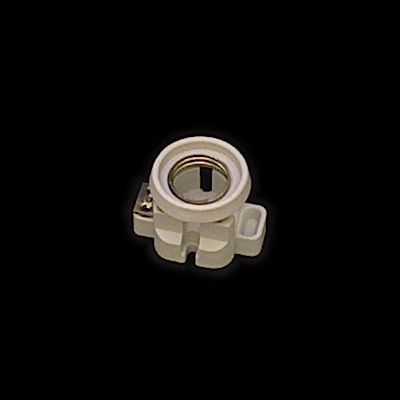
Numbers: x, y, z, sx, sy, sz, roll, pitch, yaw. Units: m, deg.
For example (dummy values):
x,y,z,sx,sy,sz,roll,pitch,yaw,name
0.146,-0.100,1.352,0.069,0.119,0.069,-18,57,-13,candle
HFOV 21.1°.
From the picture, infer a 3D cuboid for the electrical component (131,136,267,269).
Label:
x,y,z,sx,sy,sz,roll,pitch,yaw,name
0.000,0.000,0.629,0.078,0.057,0.057,10,-37,7,electrical component
